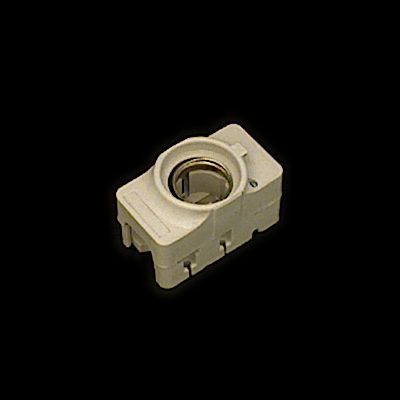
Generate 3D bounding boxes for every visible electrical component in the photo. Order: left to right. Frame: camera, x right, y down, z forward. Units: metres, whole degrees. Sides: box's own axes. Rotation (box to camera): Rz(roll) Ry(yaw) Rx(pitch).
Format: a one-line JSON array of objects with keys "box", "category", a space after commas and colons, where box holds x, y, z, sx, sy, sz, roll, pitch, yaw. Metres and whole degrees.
[{"box": [0.000, 0.000, 0.637, 0.090, 0.050, 0.056, -32, -31, -22], "category": "electrical component"}]
